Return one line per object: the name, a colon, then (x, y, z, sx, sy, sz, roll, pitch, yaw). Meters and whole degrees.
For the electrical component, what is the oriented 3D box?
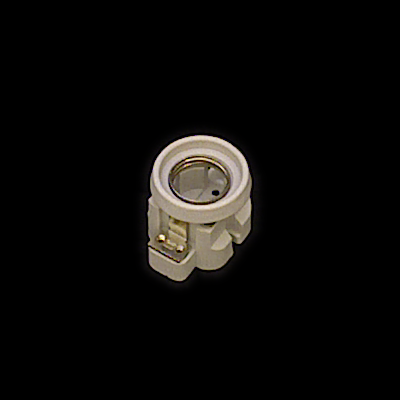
electrical component: (0.000, 0.000, 0.628, 0.057, 0.078, 0.057, 27, -33, 19)
